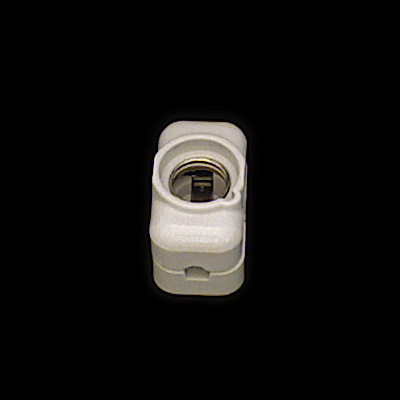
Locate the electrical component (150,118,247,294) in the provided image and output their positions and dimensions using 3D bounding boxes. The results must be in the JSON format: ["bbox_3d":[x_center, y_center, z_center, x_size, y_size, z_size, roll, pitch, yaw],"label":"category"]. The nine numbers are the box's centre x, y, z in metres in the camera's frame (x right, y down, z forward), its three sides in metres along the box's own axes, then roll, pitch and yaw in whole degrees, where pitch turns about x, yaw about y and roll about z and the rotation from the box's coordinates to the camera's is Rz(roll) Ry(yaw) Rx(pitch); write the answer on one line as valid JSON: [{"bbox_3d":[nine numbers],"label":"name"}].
[{"bbox_3d":[0.000,0.000,0.635,0.054,0.095,0.059,2,-37,2],"label":"electrical component"}]
